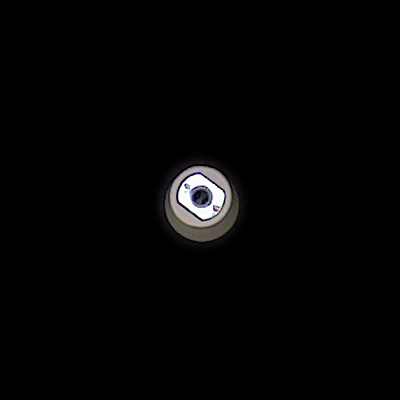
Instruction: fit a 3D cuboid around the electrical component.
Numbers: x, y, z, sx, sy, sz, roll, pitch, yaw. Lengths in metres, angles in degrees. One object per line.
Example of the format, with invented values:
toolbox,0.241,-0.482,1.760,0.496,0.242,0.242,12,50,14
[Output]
electrical component,0.000,0.000,0.626,0.044,0.044,0.065,0,-5,1
